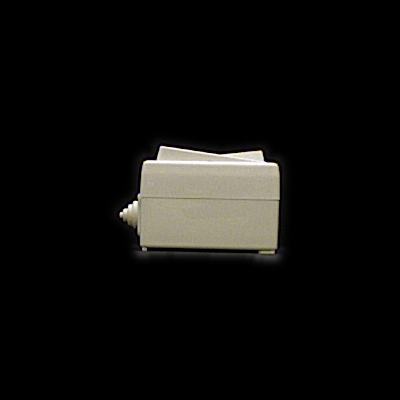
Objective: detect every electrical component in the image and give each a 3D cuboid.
[{"bbox_3d":[0.000,0.000,0.650,0.096,0.061,0.061,2,0,2],"label":"electrical component"}]
